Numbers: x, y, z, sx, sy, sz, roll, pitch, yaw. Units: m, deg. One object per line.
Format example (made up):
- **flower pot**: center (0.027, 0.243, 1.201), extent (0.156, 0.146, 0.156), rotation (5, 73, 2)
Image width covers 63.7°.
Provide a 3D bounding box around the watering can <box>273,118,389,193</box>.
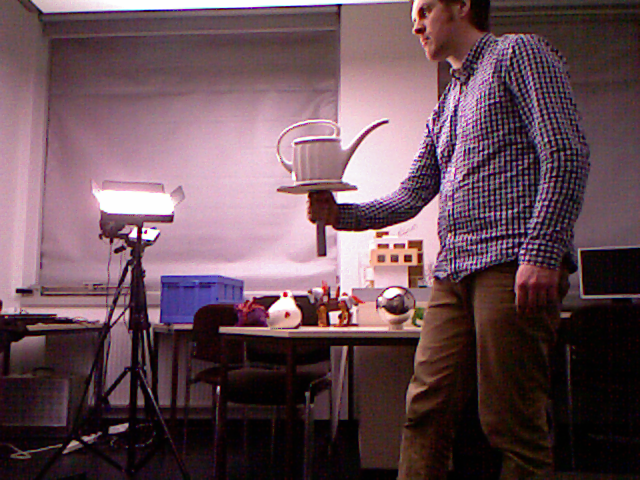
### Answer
- **watering can**: center (0.033, -0.250, 1.525), extent (0.348, 0.223, 0.105), rotation (-2, 8, 9)
